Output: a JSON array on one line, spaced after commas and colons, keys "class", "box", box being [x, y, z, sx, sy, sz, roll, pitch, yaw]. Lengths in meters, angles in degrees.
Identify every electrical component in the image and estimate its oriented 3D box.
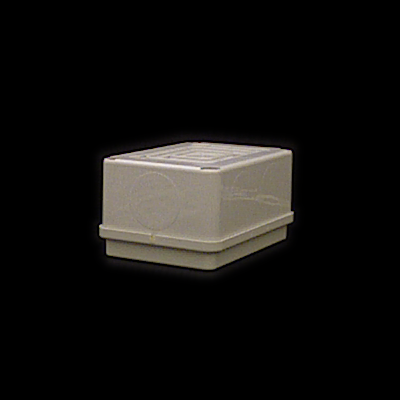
[{"class": "electrical component", "box": [0.000, 0.000, 0.644, 0.078, 0.057, 0.113, 7, 12, 27]}]
